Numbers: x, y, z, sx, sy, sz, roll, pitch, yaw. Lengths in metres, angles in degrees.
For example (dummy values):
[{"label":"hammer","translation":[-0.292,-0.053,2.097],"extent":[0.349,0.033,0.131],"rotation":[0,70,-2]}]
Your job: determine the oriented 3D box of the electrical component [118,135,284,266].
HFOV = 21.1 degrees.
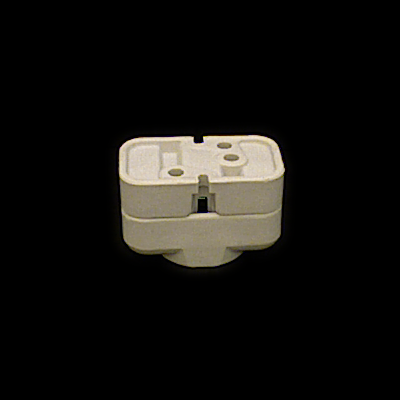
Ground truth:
[{"label":"electrical component","translation":[0.000,0.000,0.643],"extent":[0.095,0.060,0.053],"rotation":[-2,32,-4]}]
